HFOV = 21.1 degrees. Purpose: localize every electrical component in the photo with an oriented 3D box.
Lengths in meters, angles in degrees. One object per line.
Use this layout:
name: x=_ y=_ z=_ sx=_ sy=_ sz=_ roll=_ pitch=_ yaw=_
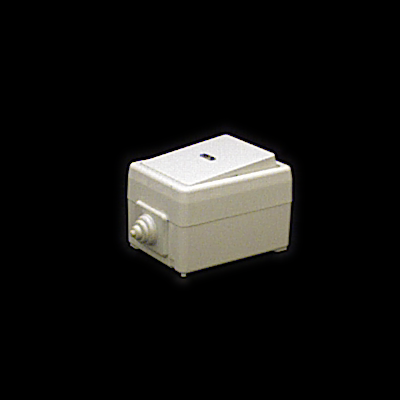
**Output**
electrical component: x=0.000 y=0.000 z=0.638 sx=0.096 sy=0.061 sz=0.061 roll=-13 pitch=25 yaw=-33
